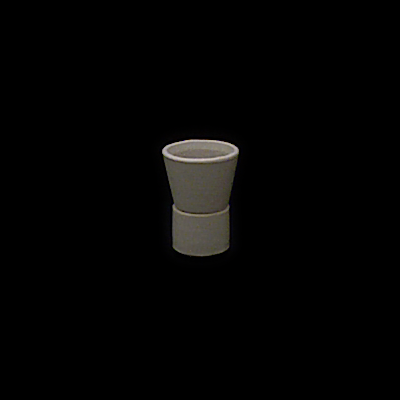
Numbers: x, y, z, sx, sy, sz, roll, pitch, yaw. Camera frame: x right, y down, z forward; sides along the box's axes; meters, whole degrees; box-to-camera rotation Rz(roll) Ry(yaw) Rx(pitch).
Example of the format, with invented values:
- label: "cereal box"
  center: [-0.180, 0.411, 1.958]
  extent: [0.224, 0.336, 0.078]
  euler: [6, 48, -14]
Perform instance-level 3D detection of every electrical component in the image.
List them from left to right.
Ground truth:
- label: "electrical component"
  center: [0.000, 0.000, 0.639]
  extent: [0.044, 0.066, 0.044]
  euler: [0, 21, 0]
